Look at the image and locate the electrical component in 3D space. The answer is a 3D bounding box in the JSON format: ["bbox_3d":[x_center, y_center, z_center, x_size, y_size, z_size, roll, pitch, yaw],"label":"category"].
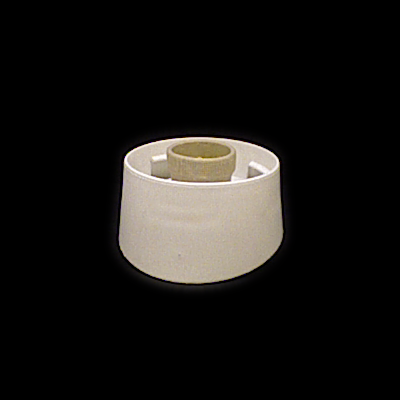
[{"bbox_3d":[0.000,0.000,0.639,0.099,0.065,0.097,1,21,0],"label":"electrical component"}]
